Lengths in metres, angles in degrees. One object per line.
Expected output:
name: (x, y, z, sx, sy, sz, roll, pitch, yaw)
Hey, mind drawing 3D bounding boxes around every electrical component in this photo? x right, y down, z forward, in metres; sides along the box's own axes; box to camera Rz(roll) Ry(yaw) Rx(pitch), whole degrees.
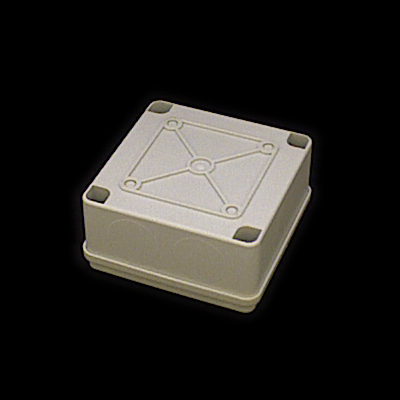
electrical component: (0.000, 0.000, 0.633, 0.108, 0.057, 0.108, 15, 43, 15)
